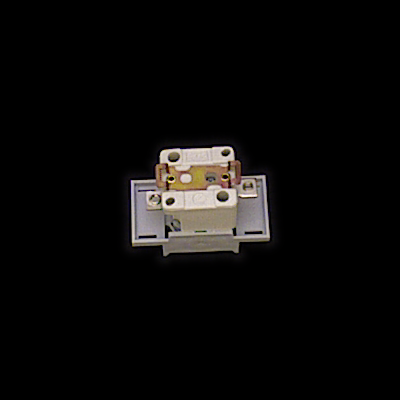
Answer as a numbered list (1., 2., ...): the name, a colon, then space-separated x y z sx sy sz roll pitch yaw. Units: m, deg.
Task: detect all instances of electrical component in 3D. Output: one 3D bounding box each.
1. electrical component: 0.000 0.000 0.625 0.081 0.042 0.063 -3 -27 -2
